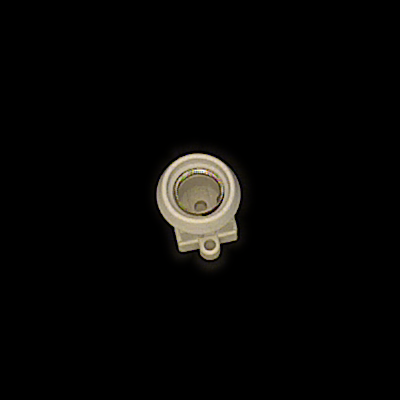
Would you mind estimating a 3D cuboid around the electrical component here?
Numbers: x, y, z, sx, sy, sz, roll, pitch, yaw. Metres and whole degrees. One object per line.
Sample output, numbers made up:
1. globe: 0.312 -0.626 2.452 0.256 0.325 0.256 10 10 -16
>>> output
1. electrical component: 0.000 0.000 0.637 0.048 0.066 0.055 -13 -16 -5
